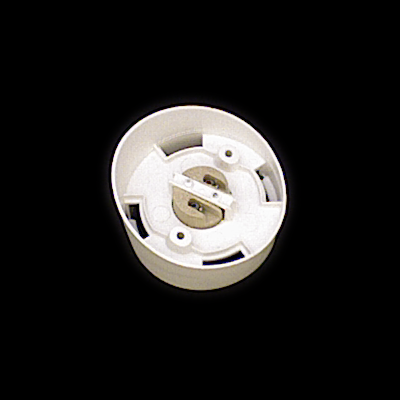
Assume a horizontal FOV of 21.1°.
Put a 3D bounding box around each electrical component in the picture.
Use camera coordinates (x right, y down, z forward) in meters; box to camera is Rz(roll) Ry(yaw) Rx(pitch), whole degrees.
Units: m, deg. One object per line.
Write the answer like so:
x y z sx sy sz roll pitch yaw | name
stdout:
0.000 0.000 0.624 0.099 0.099 0.064 0 -27 1 | electrical component
